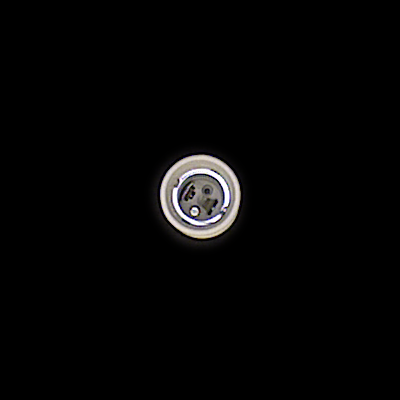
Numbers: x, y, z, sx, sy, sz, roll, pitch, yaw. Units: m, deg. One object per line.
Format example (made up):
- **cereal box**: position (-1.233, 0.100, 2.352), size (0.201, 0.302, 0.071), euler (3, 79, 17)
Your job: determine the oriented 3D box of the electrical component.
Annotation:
- **electrical component**: position (0.000, 0.000, 0.629), size (0.045, 0.045, 0.055), euler (0, -7, 1)
